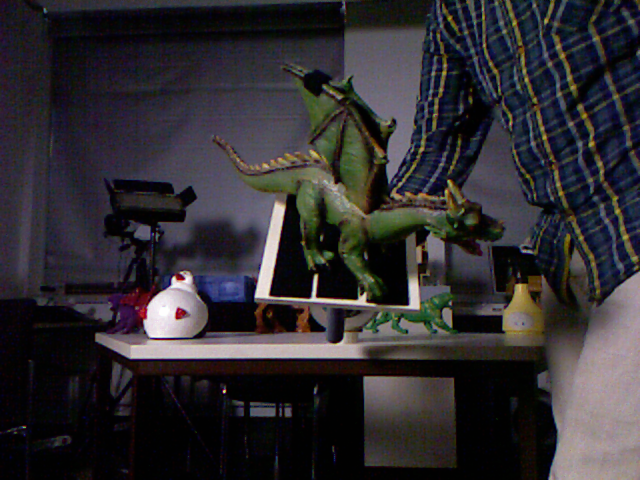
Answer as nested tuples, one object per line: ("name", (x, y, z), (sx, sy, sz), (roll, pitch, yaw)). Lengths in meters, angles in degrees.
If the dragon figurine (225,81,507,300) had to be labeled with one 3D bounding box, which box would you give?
("dragon figurine", (0.014, -0.082, 0.605), (0.414, 0.237, 0.124), (32, 54, 23))
